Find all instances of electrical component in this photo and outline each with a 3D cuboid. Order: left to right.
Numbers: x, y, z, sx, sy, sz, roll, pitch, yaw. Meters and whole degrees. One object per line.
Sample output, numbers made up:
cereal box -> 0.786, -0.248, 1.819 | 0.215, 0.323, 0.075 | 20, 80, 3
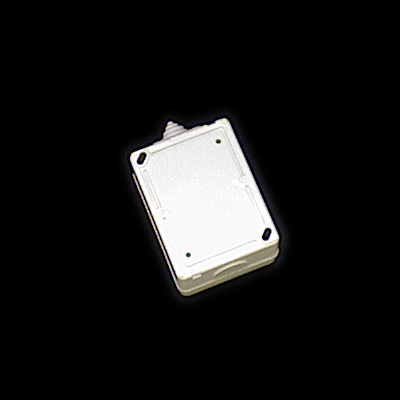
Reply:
electrical component -> 0.000, 0.000, 0.627 | 0.062, 0.096, 0.061 | -21, -16, -6
